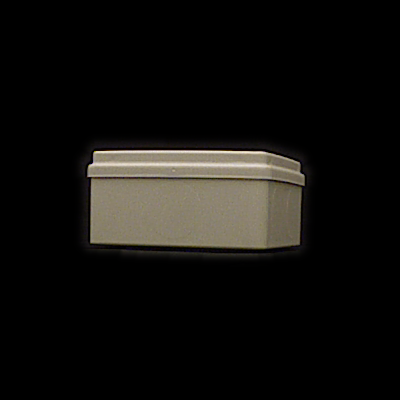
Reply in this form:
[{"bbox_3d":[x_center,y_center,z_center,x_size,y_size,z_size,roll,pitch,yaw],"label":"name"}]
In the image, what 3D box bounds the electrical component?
[{"bbox_3d":[0.000,0.000,0.651,0.108,0.056,0.109,1,0,16],"label":"electrical component"}]
